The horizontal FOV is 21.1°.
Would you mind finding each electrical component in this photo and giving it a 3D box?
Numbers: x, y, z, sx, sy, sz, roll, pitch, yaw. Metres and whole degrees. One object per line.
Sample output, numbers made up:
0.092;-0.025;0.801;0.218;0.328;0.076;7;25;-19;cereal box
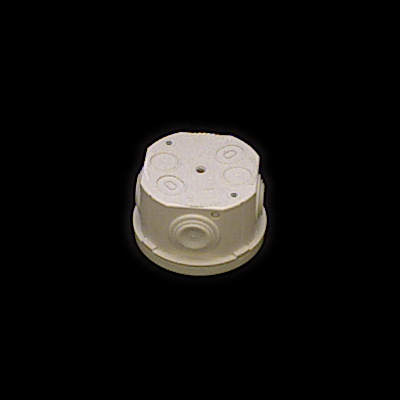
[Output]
0.000;0.000;0.634;0.080;0.051;0.080;1;43;-1;electrical component
